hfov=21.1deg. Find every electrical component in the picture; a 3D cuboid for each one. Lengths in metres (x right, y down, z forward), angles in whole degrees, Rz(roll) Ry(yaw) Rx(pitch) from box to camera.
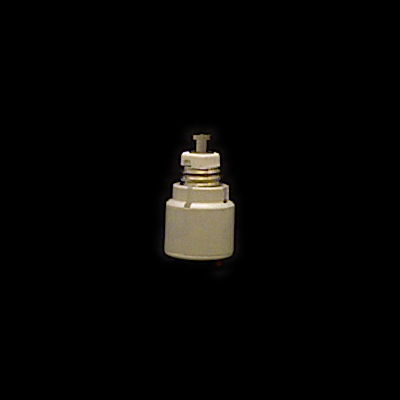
[{"bbox_3d":[0.000,0.000,0.641,0.040,0.079,0.040,1,10,0],"label":"electrical component"}]
